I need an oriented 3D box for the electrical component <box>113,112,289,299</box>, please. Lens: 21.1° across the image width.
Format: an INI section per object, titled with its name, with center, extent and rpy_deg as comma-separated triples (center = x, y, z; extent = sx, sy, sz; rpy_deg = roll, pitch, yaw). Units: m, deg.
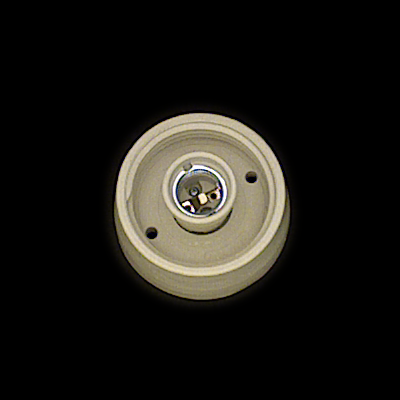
[electrical component]
center = 0.000, 0.000, 0.633
extent = 0.108, 0.108, 0.060
rpy_deg = 0, -16, 0
